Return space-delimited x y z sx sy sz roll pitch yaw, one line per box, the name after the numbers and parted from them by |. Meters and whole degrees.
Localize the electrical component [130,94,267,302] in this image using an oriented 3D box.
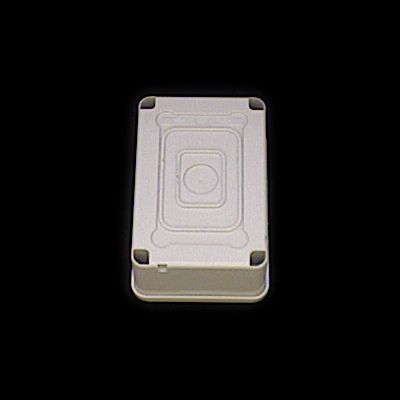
0.000 0.000 0.628 0.078 0.113 0.057 1 -28 1 | electrical component
